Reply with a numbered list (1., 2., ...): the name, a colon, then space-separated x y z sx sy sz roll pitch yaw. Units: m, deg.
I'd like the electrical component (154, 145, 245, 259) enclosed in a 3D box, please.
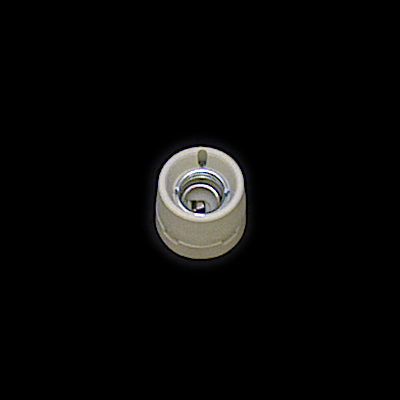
1. electrical component: 0.000 0.000 0.633 0.055 0.055 0.047 0 -28 0
